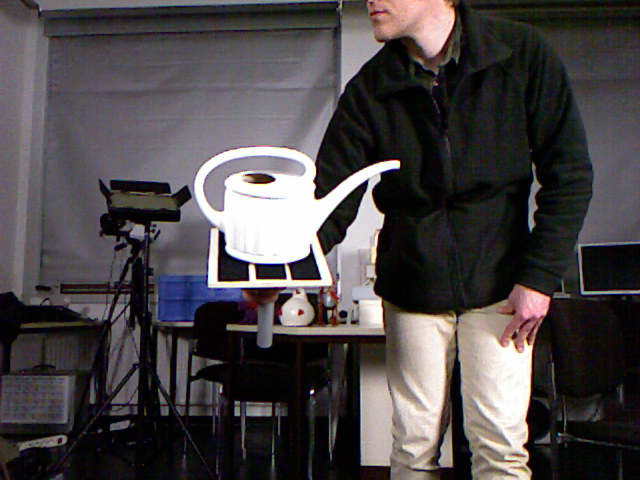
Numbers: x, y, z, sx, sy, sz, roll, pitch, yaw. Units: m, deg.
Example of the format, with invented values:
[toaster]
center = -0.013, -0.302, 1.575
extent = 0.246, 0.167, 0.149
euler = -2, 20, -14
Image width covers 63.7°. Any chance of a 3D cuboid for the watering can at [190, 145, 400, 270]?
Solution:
[watering can]
center = -0.043, -0.055, 0.884
extent = 0.348, 0.220, 0.106
euler = 1, 31, -8
